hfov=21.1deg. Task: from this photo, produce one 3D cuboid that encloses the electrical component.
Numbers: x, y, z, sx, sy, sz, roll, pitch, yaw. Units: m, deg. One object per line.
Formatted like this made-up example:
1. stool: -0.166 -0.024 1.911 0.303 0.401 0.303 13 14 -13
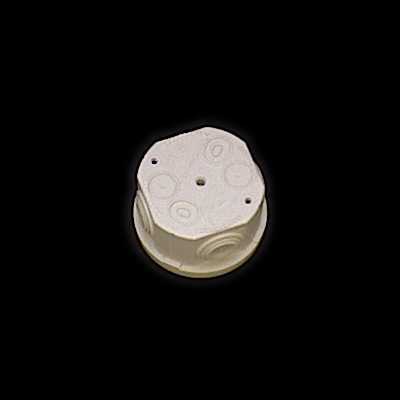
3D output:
1. electrical component: 0.000 0.000 0.631 0.080 0.080 0.050 0 -27 -1
